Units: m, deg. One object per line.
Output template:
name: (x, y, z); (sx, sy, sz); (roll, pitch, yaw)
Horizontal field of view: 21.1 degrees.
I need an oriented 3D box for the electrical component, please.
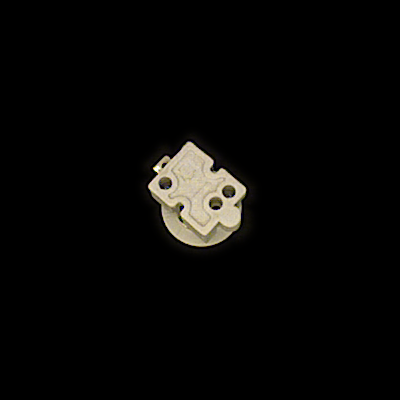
electrical component: (0.000, 0.000, 0.637); (0.066, 0.048, 0.055); (41, -11, 11)
